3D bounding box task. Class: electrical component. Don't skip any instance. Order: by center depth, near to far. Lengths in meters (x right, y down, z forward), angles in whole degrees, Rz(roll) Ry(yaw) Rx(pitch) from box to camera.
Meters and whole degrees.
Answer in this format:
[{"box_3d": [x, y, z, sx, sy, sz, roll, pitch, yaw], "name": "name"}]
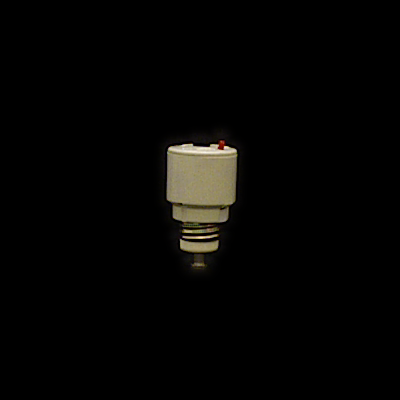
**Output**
[{"box_3d": [0.000, 0.000, 0.640, 0.040, 0.079, 0.040, 2, 11, 0], "name": "electrical component"}]
